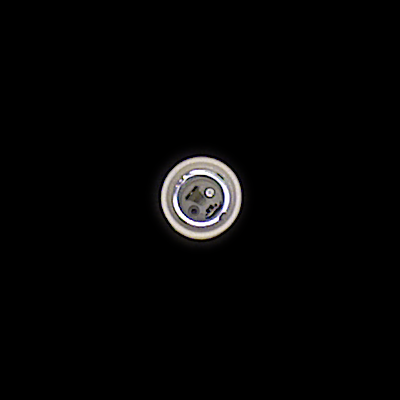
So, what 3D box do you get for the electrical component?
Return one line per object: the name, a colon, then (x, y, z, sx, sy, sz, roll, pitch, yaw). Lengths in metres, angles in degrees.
electrical component: (0.000, 0.000, 0.629, 0.045, 0.045, 0.055, 0, -5, 0)
